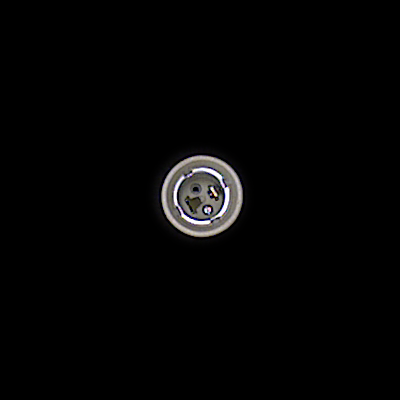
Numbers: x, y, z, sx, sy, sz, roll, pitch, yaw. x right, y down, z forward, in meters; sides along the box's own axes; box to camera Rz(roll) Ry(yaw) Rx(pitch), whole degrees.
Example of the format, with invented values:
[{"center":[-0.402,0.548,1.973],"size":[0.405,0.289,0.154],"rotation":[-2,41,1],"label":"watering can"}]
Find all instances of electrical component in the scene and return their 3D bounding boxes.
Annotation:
[{"center":[0.000,0.000,0.624],"size":[0.044,0.044,0.065],"rotation":[0,-5,0],"label":"electrical component"}]
